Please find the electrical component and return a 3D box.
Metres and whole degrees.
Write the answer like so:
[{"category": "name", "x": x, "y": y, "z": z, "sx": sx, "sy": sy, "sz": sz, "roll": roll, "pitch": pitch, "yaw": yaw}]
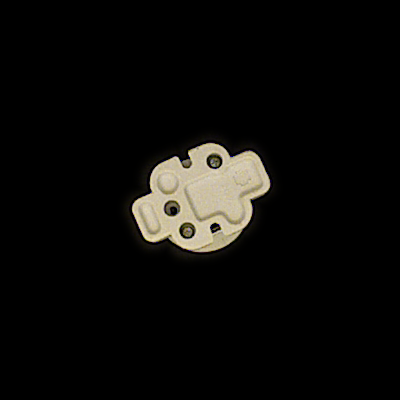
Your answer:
[{"category": "electrical component", "x": 0.000, "y": 0.000, "z": 0.637, "sx": 0.079, "sy": 0.058, "sz": 0.056, "roll": -25, "pitch": -6, "yaw": -3}]
